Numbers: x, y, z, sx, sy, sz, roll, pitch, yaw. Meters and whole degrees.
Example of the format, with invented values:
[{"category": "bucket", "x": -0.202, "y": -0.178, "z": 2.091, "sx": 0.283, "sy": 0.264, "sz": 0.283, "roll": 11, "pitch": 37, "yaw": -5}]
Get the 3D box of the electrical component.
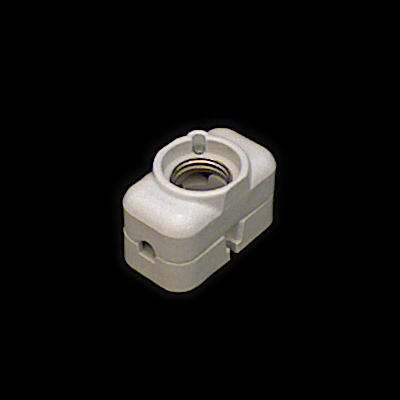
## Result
[{"category": "electrical component", "x": 0.000, "y": 0.000, "z": 0.638, "sx": 0.053, "sy": 0.060, "sz": 0.095, "roll": 30, "pitch": 50, "yaw": 28}]
